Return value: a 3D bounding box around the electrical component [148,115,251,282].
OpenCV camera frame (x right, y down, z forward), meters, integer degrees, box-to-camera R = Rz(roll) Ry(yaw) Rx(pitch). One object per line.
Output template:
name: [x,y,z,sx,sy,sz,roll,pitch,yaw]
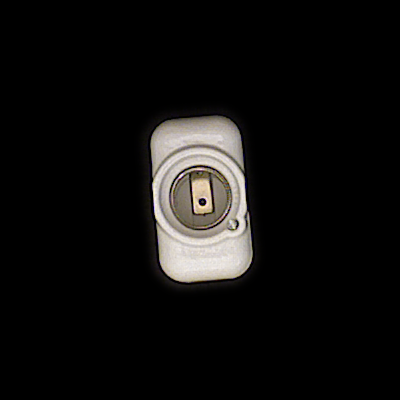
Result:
electrical component: [0.000,0.000,0.635,0.054,0.095,0.059,-5,-5,1]
